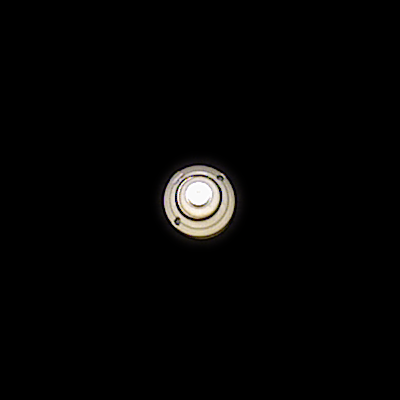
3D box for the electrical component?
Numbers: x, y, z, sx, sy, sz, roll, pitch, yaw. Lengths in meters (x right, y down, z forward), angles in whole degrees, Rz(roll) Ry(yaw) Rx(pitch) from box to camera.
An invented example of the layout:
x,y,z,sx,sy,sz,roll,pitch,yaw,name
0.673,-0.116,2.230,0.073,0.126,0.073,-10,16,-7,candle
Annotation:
x,y,z,sx,sy,sz,roll,pitch,yaw,name
0.000,0.000,0.618,0.040,0.040,0.078,0,-5,0,electrical component
